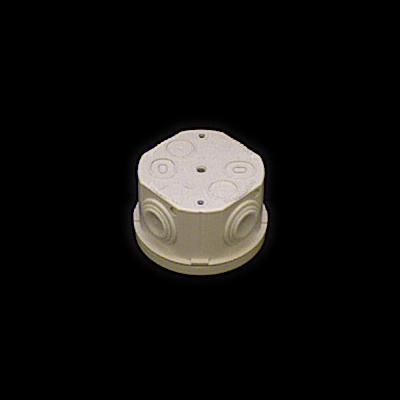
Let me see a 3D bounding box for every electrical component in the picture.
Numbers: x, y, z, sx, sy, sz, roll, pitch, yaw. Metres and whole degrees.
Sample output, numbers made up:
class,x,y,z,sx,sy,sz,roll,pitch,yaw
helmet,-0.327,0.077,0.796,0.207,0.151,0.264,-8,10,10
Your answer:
class,x,y,z,sx,sy,sz,roll,pitch,yaw
electrical component,0.000,0.000,0.633,0.080,0.051,0.080,1,43,0
